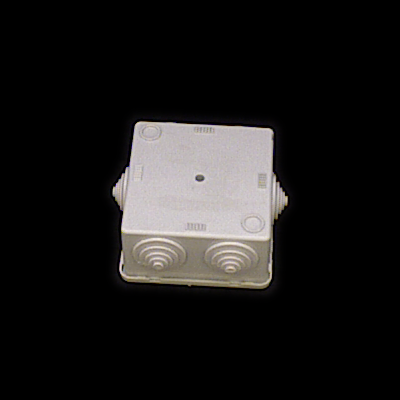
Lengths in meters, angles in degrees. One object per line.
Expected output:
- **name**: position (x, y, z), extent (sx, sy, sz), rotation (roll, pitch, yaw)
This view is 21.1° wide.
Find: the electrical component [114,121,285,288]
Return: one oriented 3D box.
- **electrical component**: position (0.000, 0.000, 0.632), extent (0.100, 0.099, 0.049), rotation (3, -37, 2)
